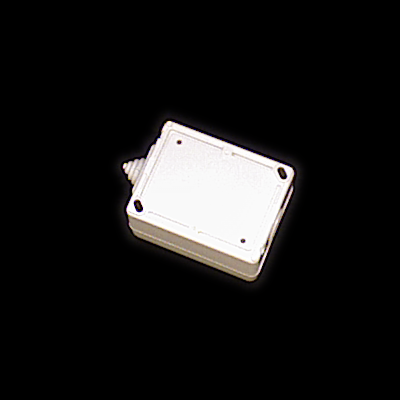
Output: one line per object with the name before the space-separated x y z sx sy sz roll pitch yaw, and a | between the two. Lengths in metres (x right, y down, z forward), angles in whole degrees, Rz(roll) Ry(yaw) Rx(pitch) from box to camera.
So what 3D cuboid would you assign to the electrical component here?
electrical component | 0.000 0.000 0.629 0.096 0.062 0.060 21 -16 7
